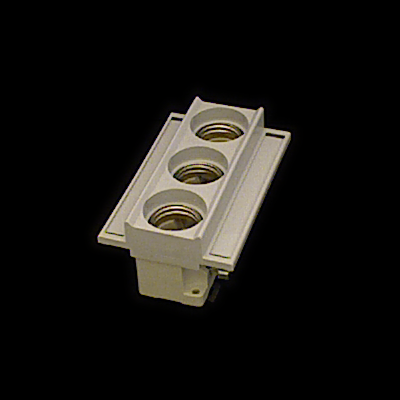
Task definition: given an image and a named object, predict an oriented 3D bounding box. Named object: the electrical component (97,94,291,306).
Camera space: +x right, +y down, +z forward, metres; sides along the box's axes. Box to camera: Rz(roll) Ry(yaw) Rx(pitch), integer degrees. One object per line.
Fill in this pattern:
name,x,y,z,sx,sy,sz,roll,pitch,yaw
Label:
electrical component,0.000,0.000,0.642,0.078,0.064,0.120,12,44,15
